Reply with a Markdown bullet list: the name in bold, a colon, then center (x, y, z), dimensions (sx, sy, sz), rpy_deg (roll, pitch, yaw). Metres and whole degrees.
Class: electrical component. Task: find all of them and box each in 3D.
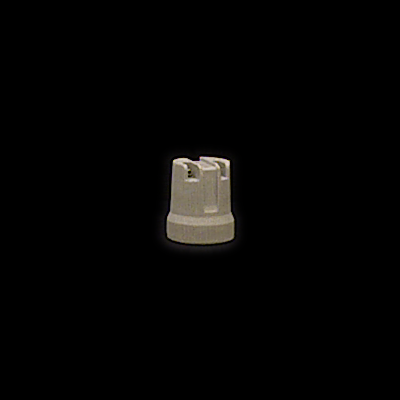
- **electrical component**: center (0.000, 0.000, 0.644), dimensions (0.040, 0.046, 0.040), rpy_deg (1, 11, 0)
